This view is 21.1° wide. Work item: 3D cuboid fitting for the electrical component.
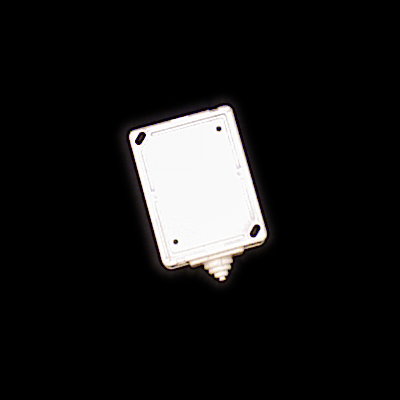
[{"bbox_3d":[0.000,0.000,0.629,0.062,0.096,0.061,-15,-6,-1],"label":"electrical component"}]
